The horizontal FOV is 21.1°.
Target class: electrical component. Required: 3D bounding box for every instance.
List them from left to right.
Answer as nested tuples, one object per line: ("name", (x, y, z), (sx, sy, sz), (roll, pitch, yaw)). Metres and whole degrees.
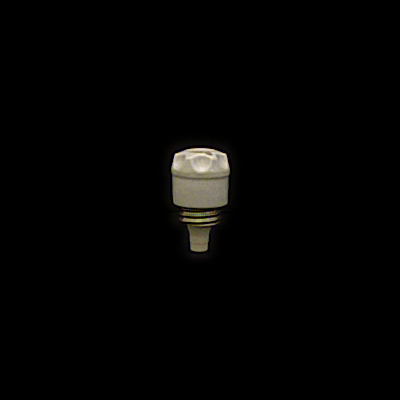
("electrical component", (0.000, 0.000, 0.648), (0.035, 0.062, 0.035), (1, 12, 0))
